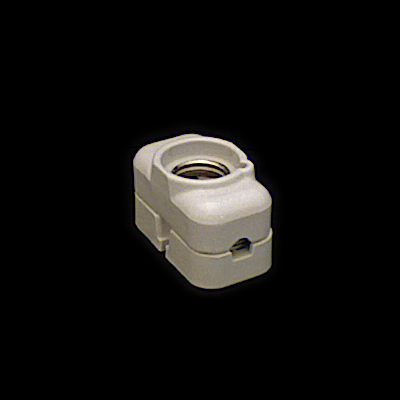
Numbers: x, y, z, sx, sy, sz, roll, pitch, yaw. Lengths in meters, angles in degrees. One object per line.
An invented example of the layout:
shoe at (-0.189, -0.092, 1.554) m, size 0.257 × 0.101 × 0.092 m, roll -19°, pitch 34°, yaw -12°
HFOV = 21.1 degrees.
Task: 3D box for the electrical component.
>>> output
electrical component at (0.000, 0.000, 0.642) m, size 0.054 × 0.060 × 0.093 m, roll -17°, pitch 37°, yaw -26°
